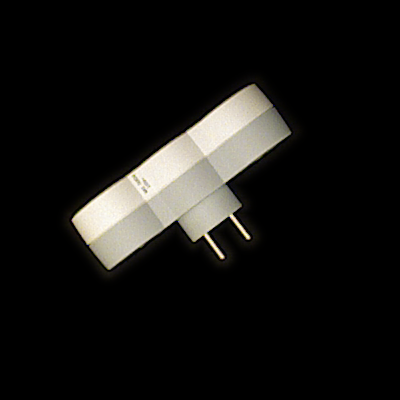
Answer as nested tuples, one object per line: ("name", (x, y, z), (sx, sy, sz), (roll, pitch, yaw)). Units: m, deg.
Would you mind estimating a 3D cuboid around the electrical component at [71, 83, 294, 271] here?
("electrical component", (0.000, 0.000, 0.639), (0.138, 0.074, 0.052), (-37, -3, -4))
